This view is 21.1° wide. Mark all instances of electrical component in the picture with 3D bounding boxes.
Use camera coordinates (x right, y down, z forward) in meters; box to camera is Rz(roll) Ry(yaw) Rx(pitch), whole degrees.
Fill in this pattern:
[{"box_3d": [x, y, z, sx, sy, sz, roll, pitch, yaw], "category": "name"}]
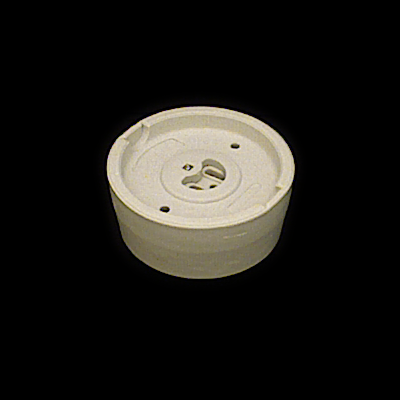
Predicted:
[{"box_3d": [0.000, 0.000, 0.637, 0.108, 0.061, 0.107, 1, 43, 0], "category": "electrical component"}]
